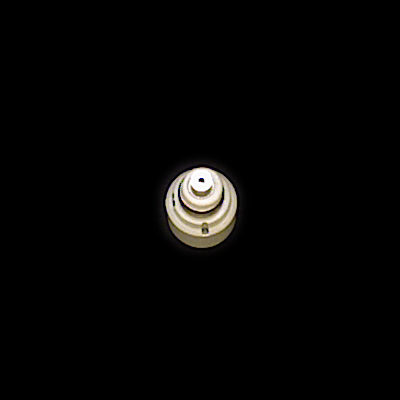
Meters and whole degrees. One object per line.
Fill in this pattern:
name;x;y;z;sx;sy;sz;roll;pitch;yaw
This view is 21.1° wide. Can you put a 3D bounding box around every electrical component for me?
electrical component;0.000;0.000;0.618;0.040;0.040;0.078;0;-16;0
